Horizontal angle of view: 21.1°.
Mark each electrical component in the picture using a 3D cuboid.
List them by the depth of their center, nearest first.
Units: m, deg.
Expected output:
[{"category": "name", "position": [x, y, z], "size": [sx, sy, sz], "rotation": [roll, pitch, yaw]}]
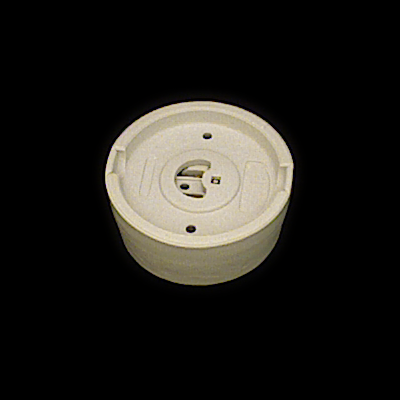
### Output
[{"category": "electrical component", "position": [0.000, 0.000, 0.637], "size": [0.108, 0.107, 0.060], "rotation": [0, -37, 0]}]
